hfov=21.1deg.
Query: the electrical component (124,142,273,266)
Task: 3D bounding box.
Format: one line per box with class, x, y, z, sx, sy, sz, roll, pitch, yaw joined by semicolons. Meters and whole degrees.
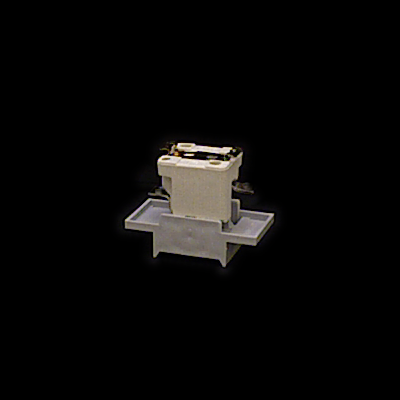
electrical component;0.000;0.000;0.638;0.080;0.064;0.042;7;22;15
